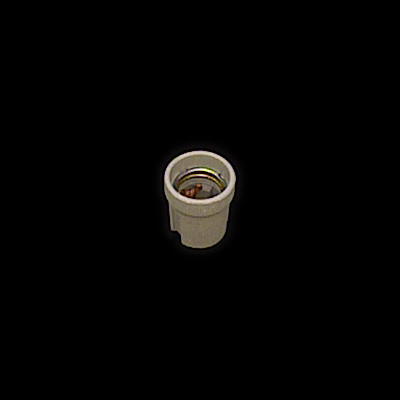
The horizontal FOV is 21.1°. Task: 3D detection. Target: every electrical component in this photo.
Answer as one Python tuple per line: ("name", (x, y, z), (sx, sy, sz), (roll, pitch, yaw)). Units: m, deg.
("electrical component", (0.000, 0.000, 0.631), (0.040, 0.039, 0.047), (0, -38, -1))
